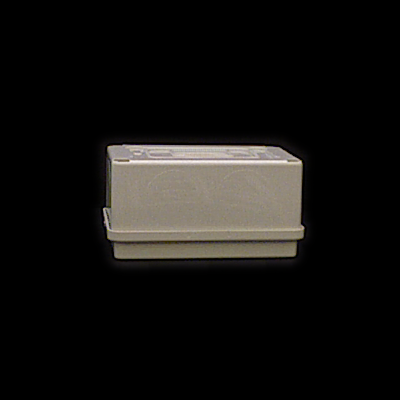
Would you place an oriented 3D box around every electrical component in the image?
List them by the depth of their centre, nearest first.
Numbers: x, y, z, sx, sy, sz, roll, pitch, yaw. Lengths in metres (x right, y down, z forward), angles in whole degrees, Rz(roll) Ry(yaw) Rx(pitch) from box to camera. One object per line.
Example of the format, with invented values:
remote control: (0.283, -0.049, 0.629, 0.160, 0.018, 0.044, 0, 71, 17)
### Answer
electrical component: (0.000, 0.000, 0.644, 0.113, 0.057, 0.077, -1, 11, -8)
